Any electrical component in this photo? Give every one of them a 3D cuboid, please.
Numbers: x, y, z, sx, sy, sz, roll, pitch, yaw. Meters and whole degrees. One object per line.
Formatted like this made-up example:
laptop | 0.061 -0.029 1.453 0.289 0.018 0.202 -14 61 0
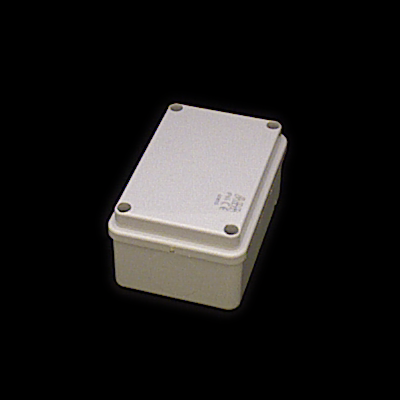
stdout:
electrical component | 0.000 0.000 0.631 0.078 0.057 0.112 12 43 12
